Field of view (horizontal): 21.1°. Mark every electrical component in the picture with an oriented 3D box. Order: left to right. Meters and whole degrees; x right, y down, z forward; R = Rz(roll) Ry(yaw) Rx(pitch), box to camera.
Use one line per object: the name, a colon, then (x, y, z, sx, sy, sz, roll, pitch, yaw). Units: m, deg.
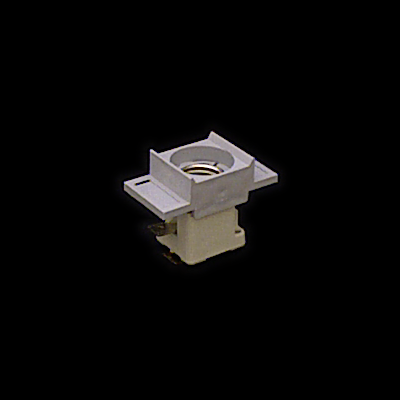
electrical component: (0.000, 0.000, 0.631, 0.081, 0.064, 0.041, -19, 37, -30)
